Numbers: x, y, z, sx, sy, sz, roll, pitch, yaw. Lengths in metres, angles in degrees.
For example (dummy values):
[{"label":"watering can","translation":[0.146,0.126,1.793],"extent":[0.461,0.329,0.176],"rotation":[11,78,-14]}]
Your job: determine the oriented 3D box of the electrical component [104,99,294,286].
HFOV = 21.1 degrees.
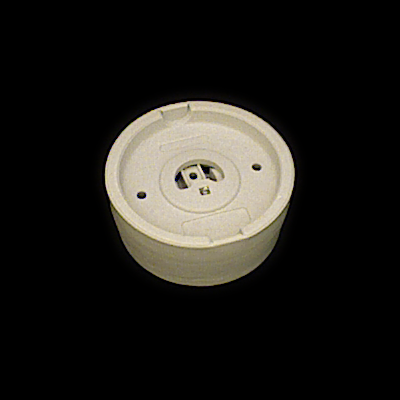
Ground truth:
[{"label":"electrical component","translation":[0.000,0.000,0.634],"extent":[0.108,0.107,0.060],"rotation":[0,-37,0]}]
